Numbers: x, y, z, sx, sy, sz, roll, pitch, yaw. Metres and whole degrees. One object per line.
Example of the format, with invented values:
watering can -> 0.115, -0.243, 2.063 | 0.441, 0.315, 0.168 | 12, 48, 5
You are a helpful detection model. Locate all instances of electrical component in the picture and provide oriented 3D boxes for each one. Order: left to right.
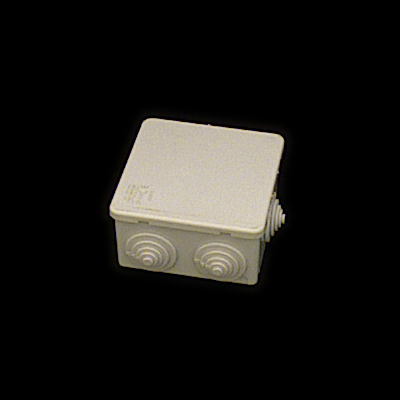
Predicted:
electrical component -> 0.000, 0.000, 0.641 | 0.099, 0.049, 0.099 | 8, 43, 8
